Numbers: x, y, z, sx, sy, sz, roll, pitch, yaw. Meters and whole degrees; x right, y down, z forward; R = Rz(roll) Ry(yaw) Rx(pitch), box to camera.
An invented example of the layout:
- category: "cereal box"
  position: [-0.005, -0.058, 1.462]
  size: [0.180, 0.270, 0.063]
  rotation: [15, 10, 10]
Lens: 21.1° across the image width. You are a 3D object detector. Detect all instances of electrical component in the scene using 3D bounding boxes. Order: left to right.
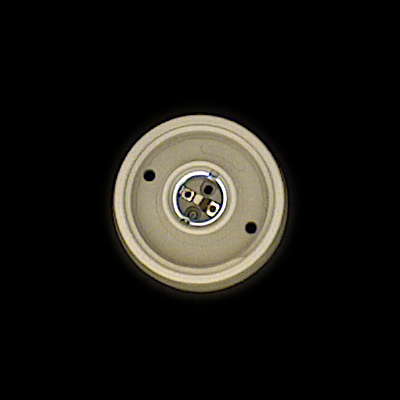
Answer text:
- category: "electrical component"
  position: [0.000, 0.000, 0.634]
  size: [0.108, 0.108, 0.060]
  rotation: [0, -6, 0]
